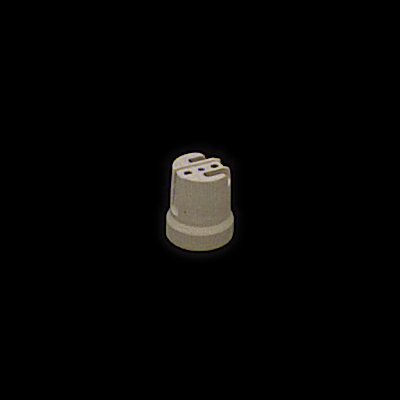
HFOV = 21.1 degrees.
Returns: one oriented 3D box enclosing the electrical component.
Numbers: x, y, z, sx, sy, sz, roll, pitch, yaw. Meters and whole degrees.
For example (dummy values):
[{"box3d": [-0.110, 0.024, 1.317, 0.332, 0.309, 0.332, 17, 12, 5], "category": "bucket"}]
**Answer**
[{"box3d": [0.000, 0.000, 0.638, 0.040, 0.046, 0.040, 1, 33, 0], "category": "electrical component"}]
